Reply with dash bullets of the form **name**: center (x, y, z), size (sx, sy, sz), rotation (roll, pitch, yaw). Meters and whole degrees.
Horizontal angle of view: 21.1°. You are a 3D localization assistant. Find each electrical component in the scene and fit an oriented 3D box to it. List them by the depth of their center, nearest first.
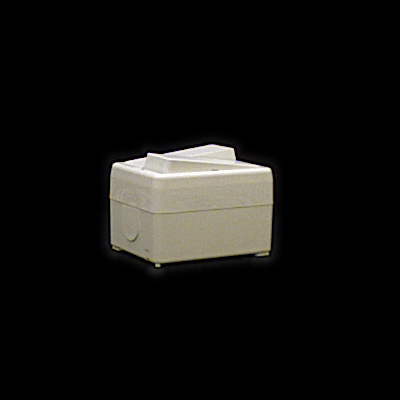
- **electrical component**: center (0.000, 0.000, 0.646), size (0.096, 0.061, 0.061), rotation (-5, 12, -30)
